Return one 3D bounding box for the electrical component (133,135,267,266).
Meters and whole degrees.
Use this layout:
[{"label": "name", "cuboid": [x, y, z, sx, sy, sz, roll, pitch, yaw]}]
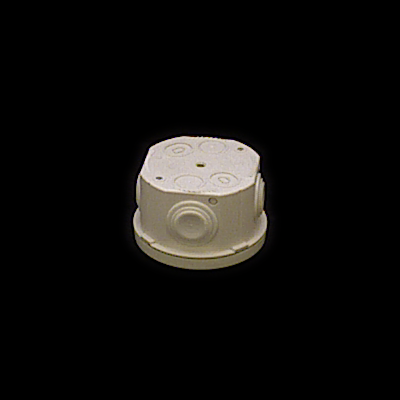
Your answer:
[{"label": "electrical component", "cuboid": [0.000, 0.000, 0.636, 0.080, 0.051, 0.079, 0, 32, 0]}]
